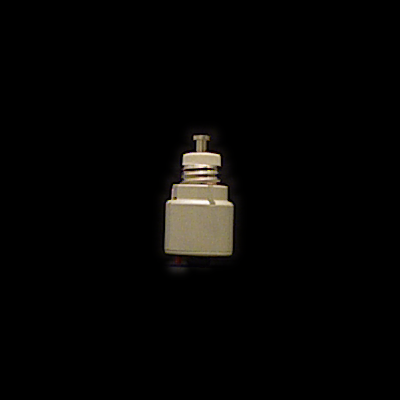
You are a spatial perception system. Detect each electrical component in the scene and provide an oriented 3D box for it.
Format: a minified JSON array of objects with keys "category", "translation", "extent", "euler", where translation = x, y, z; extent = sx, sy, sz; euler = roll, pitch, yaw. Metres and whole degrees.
[{"category":"electrical component","translation":[0.000,0.000,0.651],"extent":[0.040,0.078,0.040],"euler":[2,2,0]}]
